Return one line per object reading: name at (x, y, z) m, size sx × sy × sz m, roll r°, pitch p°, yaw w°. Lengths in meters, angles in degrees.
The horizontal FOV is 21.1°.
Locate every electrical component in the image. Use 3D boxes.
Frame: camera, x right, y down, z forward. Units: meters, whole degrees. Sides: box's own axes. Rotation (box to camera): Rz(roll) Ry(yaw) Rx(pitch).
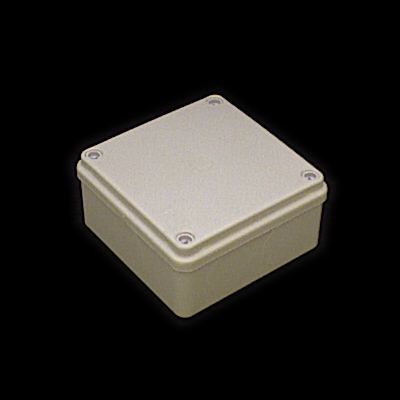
electrical component at (0.000, 0.000, 0.634) m, size 0.108 × 0.057 × 0.108 m, roll -26°, pitch 49°, yaw -28°
